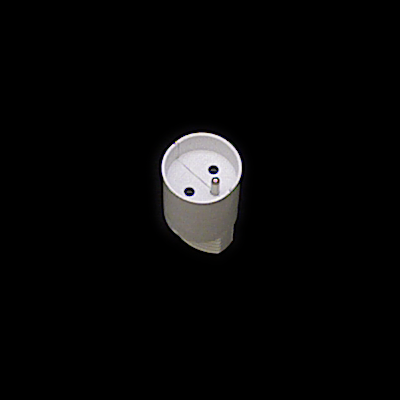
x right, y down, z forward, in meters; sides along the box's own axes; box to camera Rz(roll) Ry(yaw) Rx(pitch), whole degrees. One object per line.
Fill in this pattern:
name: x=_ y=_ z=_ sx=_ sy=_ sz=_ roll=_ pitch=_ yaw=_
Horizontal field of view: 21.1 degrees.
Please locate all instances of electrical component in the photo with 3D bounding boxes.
electrical component: x=0.000 y=0.000 z=0.617 sx=0.043 sy=0.043 sz=0.081 roll=0 pitch=-27 yaw=0
